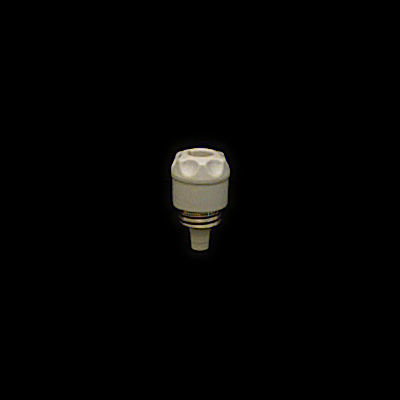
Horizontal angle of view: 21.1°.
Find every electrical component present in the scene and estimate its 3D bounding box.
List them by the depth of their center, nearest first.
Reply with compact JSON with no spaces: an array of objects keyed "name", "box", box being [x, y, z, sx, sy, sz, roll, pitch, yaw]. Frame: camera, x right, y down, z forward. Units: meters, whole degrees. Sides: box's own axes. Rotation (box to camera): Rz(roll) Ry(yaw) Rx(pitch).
[{"name":"electrical component","box":[0.000,0.000,0.647,0.035,0.062,0.034,1,22,0]}]
